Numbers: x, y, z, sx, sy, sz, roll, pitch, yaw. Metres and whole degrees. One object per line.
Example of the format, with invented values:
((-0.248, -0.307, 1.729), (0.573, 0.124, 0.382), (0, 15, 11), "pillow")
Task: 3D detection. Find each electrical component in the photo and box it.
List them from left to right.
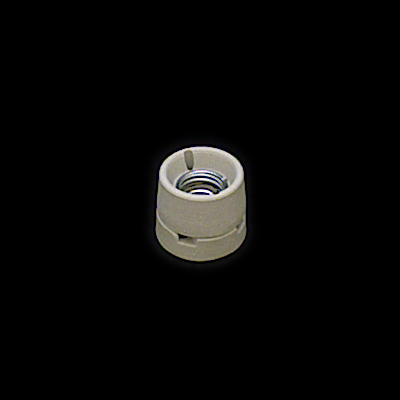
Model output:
((0.000, 0.000, 0.637), (0.055, 0.047, 0.055), (0, 41, 0), "electrical component")
